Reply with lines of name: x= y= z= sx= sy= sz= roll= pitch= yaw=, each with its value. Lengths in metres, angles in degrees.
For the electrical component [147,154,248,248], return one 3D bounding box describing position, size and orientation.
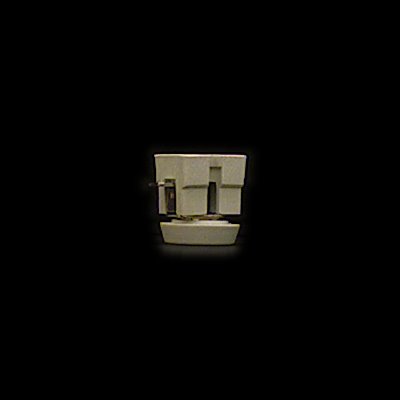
electrical component: x=0.000 y=0.000 z=0.657 sx=0.067 sy=0.055 sz=0.048 roll=-1 pitch=4 yaw=-31
